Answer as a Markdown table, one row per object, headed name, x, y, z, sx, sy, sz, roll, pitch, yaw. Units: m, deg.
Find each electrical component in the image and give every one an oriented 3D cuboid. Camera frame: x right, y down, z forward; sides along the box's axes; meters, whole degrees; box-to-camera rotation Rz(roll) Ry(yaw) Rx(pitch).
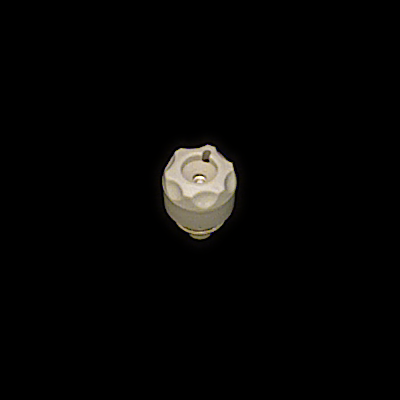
| name | x | y | z | sx | sy | sz | roll | pitch | yaw |
| --- | --- | --- | --- | --- | --- | --- | --- | --- | --- |
| electrical component | 0.000 | 0.000 | 0.635 | 0.043 | 0.043 | 0.062 | 0 | -36 | 0 |
